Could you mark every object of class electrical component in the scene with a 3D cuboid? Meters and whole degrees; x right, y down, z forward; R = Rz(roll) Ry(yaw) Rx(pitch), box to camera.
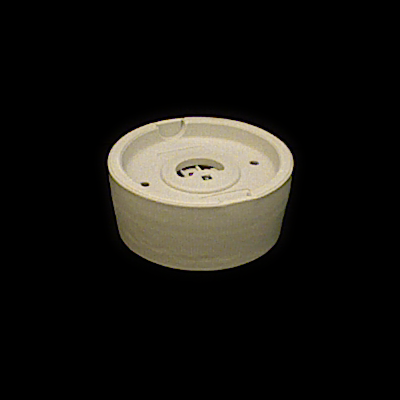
[{"bbox_3d":[0.000,0.000,0.639,0.108,0.061,0.106,1,31,0],"label":"electrical component"}]
